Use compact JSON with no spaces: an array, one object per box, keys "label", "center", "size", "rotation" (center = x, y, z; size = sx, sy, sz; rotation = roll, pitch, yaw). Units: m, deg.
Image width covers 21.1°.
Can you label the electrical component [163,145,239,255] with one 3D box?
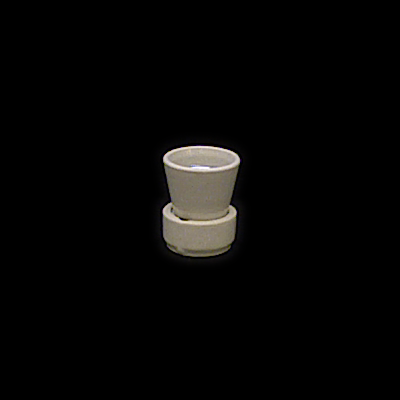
[{"label":"electrical component","center":[0.000,0.000,0.640],"size":[0.045,0.056,0.044],"rotation":[1,22,0]}]
